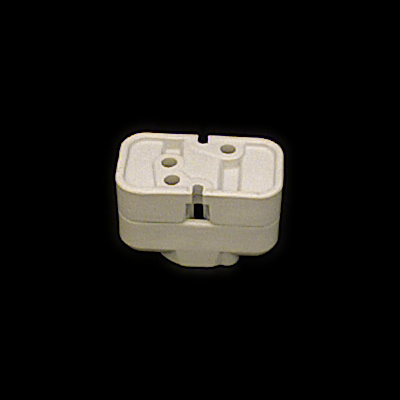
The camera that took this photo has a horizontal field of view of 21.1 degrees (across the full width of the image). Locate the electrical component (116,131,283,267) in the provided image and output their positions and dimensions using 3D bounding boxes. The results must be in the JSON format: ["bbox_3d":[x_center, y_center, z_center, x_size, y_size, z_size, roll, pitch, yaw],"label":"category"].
[{"bbox_3d":[0.000,0.000,0.637,0.095,0.060,0.053,3,43,1],"label":"electrical component"}]
